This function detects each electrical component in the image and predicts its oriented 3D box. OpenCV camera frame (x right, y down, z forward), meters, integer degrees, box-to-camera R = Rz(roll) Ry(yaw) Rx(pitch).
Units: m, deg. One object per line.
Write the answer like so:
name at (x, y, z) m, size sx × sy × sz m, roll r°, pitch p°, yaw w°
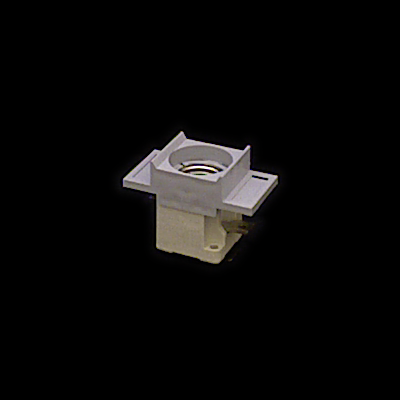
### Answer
electrical component at (0.000, 0.000, 0.632) m, size 0.080 × 0.064 × 0.042 m, roll 14°, pitch 33°, yaw 21°
